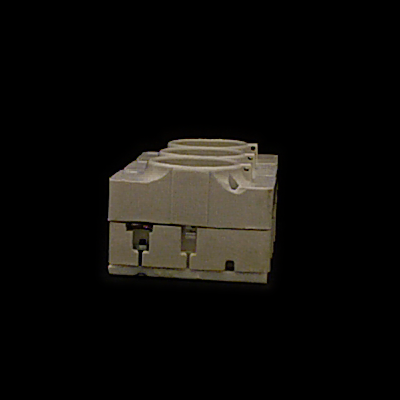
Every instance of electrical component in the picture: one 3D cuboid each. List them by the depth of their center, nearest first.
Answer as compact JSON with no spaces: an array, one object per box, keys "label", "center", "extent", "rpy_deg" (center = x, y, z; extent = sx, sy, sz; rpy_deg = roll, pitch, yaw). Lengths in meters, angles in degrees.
[{"label":"electrical component","center":[0.000,0.000,0.651],"extent":[0.089,0.062,0.148],"rpy_deg":[3,10,4]}]
